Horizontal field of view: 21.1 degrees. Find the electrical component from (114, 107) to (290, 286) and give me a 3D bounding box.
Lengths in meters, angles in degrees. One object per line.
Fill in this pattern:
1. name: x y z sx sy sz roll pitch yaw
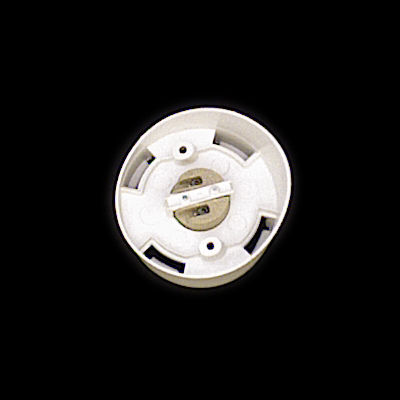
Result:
1. electrical component: 0.000 0.000 0.624 0.099 0.099 0.064 0 -18 -1
